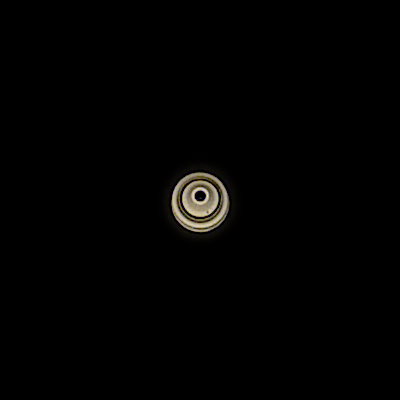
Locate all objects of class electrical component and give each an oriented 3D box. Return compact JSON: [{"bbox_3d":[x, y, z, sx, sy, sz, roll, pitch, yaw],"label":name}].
[{"bbox_3d":[0.000,0.000,0.637,0.035,0.035,0.061,0,-5,-1],"label":"electrical component"}]
